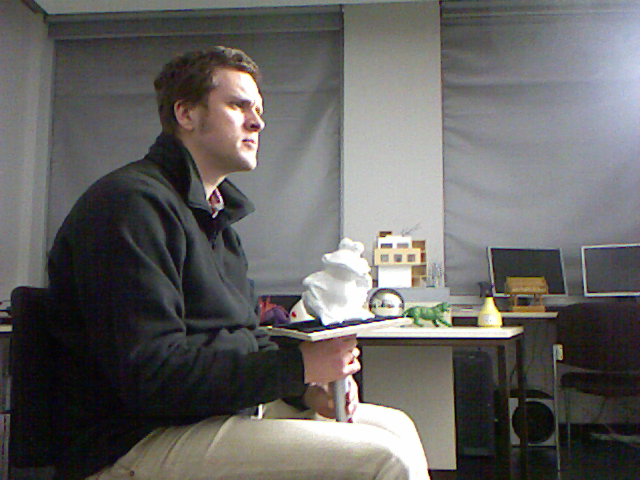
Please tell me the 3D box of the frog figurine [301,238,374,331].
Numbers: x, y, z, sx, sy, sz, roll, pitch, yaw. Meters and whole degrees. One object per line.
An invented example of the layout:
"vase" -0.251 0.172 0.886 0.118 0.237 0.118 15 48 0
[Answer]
"frog figurine" 0.031 0.077 0.955 0.137 0.159 0.123 -4 1 -7
